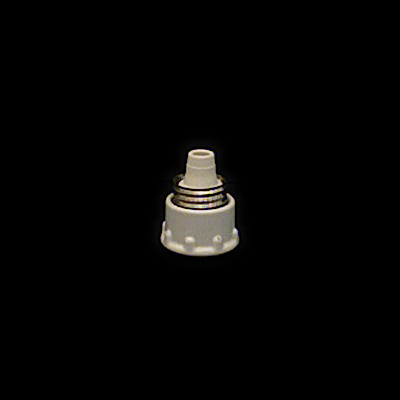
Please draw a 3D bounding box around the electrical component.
[{"bbox_3d":[0.000,0.000,0.647,0.048,0.063,0.047,1,21,0],"label":"electrical component"}]
